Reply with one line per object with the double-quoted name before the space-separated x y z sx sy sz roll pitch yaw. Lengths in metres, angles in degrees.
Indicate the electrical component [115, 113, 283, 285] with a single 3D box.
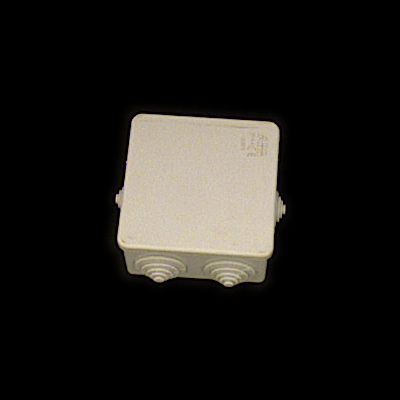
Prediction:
"electrical component" 0.000 0.000 0.641 0.100 0.100 0.048 4 -27 2
